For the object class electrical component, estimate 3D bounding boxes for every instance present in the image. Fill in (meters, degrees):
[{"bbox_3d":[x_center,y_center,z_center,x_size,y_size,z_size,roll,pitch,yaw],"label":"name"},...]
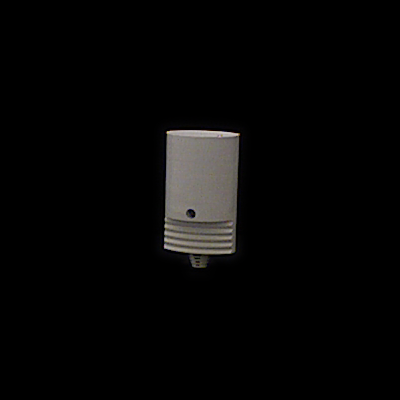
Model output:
[{"bbox_3d":[0.000,0.000,0.643,0.043,0.082,0.042,2,12,0],"label":"electrical component"}]
